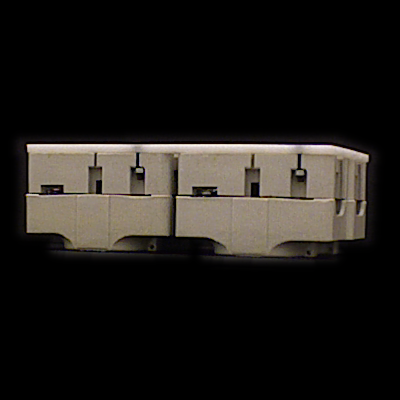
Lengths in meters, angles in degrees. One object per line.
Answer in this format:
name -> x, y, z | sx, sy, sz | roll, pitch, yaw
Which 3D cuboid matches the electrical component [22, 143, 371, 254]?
electrical component -> 0.000, 0.000, 0.649 | 0.186, 0.060, 0.106 | 1, -1, 20
